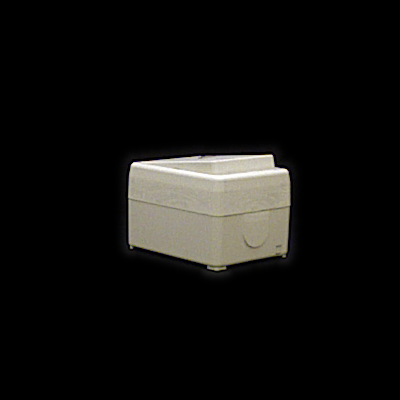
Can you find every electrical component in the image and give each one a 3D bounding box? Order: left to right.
[{"bbox_3d":[0.000,0.000,0.646,0.062,0.061,0.095,-9,14,-43],"label":"electrical component"}]
